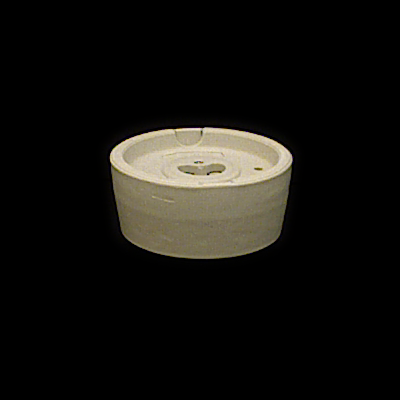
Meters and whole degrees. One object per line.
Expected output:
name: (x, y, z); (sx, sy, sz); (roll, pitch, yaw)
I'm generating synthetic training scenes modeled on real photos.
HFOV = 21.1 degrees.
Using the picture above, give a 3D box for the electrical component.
electrical component: (0.000, 0.000, 0.648); (0.108, 0.061, 0.106); (1, 22, 0)
